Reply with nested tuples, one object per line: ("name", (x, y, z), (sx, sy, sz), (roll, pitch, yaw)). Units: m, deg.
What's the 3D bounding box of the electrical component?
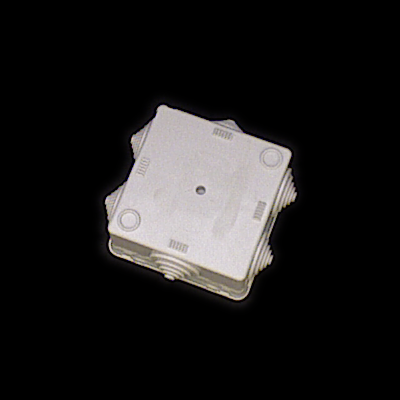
("electrical component", (0.000, 0.000, 0.632), (0.099, 0.100, 0.048), (20, -16, 6))
